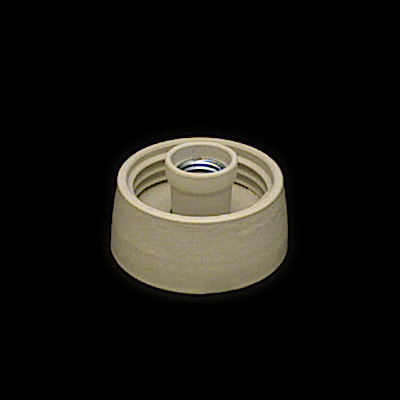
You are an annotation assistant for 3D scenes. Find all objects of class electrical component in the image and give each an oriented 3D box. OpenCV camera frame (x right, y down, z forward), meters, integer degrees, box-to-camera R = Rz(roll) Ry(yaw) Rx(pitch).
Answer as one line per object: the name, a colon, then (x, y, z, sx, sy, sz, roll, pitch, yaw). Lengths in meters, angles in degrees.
electrical component: (0.000, 0.000, 0.640, 0.108, 0.061, 0.106, 1, 32, 0)
